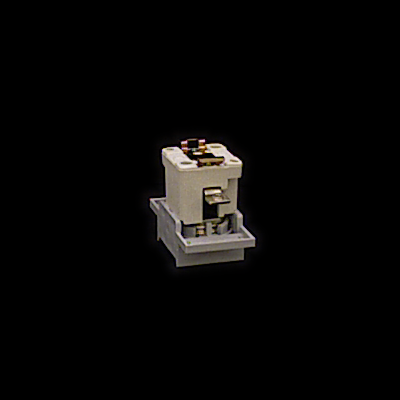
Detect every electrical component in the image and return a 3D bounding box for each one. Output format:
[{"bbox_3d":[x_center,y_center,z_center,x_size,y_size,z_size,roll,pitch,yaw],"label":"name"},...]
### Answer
[{"bbox_3d":[0.000,0.000,0.639,0.042,0.064,0.079,-6,22,-17],"label":"electrical component"}]
